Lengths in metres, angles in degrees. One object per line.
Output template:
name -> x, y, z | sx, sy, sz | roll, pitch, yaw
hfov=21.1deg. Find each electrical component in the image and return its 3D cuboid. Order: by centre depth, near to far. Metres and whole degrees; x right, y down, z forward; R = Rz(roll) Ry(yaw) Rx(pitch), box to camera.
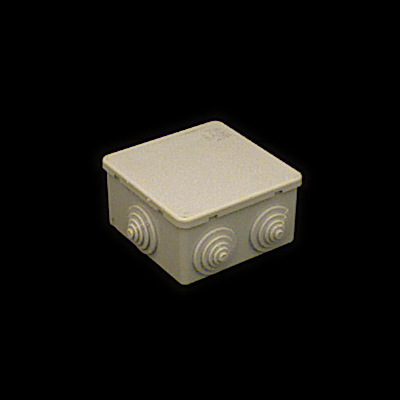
electrical component -> 0.000, 0.000, 0.646 | 0.100, 0.049, 0.098 | -20, 38, -30
